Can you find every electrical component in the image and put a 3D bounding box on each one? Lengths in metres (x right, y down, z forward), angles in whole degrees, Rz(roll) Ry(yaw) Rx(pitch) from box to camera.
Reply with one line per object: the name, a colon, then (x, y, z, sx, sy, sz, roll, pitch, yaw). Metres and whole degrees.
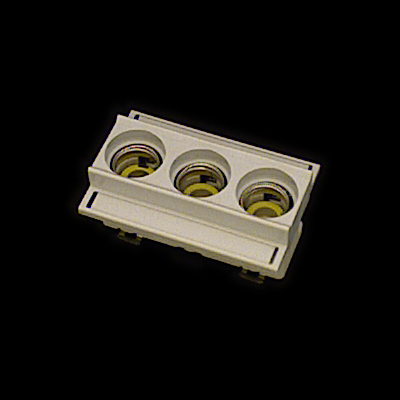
electrical component: (0.000, 0.000, 0.638, 0.121, 0.078, 0.063, 17, -34, 13)
